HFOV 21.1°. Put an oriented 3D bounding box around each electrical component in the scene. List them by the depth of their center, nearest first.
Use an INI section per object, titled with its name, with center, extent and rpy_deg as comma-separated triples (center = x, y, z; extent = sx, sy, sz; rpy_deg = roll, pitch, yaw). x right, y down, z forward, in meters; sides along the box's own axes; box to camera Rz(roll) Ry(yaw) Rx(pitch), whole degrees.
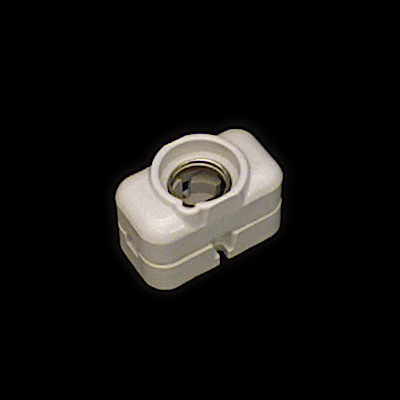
[electrical component]
center = 0.000, 0.000, 0.634
extent = 0.095, 0.053, 0.059
rpy_deg = -27, -33, -19
